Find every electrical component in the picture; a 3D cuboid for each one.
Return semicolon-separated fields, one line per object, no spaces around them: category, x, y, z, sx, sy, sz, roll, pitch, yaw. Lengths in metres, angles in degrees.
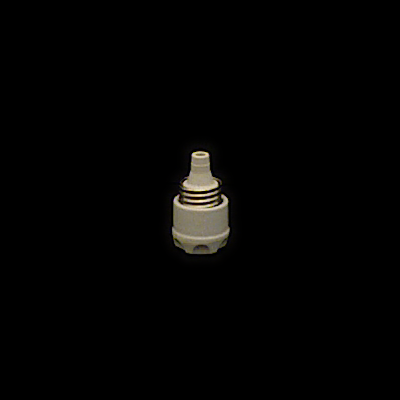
electrical component;0.000;0.000;0.651;0.035;0.062;0.034;0;23;0
